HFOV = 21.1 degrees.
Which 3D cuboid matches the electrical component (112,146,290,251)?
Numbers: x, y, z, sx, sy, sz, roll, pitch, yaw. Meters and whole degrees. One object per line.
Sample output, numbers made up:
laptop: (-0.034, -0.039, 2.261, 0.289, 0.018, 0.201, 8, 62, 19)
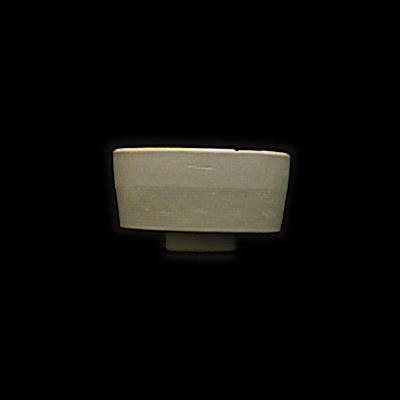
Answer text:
electrical component: (0.000, 0.000, 0.657, 0.108, 0.060, 0.108, 2, 1, 1)
